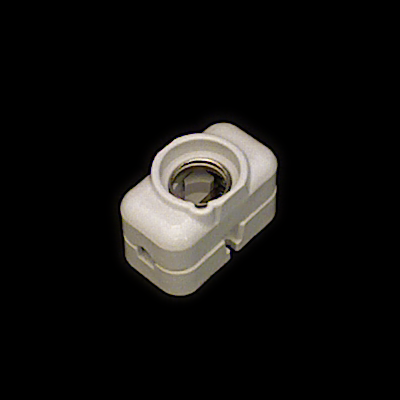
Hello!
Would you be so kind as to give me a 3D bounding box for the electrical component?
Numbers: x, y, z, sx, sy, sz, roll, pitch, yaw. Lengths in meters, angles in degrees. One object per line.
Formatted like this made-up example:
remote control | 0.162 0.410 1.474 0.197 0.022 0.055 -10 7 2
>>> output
electrical component | 0.000 0.000 0.634 0.053 0.059 0.095 36 61 24
